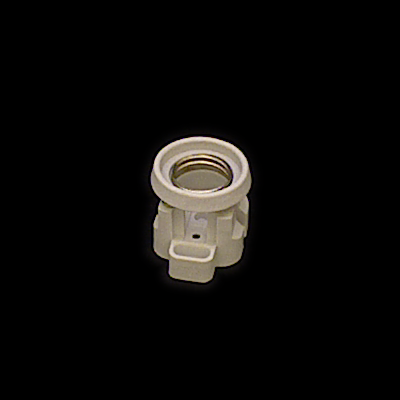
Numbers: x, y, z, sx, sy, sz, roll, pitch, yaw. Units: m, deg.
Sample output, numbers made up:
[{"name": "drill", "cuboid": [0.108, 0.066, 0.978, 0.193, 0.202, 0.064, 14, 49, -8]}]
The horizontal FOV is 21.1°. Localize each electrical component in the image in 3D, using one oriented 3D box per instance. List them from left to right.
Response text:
[{"name": "electrical component", "cuboid": [0.000, 0.000, 0.633, 0.058, 0.057, 0.078, 8, 43, 7]}]
